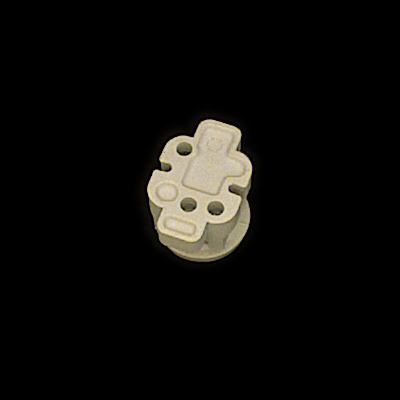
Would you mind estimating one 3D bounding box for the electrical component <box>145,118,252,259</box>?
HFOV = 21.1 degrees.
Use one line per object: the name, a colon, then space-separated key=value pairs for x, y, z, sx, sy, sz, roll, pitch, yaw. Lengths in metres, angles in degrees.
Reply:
electrical component: x=0.000 y=0.000 z=0.636 sx=0.057 sy=0.079 sz=0.057 roll=17 pitch=-27 yaw=9
